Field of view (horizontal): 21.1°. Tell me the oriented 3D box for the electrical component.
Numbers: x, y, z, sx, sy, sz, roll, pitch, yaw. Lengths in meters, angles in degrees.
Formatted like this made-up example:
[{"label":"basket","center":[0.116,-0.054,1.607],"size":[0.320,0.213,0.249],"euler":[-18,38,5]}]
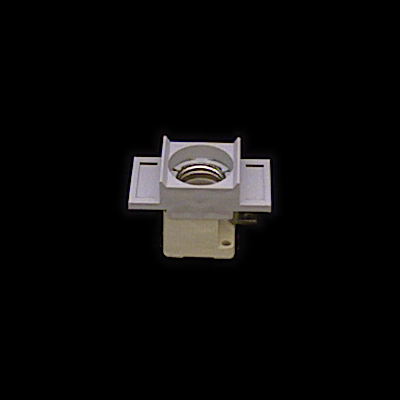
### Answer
[{"label":"electrical component","center":[0.000,0.000,0.629],"size":[0.081,0.064,0.042],"euler":[2,41,1]}]
